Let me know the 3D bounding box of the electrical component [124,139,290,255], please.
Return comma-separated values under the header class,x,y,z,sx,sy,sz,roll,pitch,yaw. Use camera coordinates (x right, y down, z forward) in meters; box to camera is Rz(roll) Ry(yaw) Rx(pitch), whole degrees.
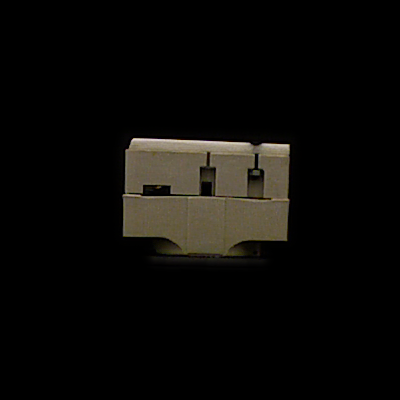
class,x,y,z,sx,sy,sz,roll,pitch,yaw
electrical component,0.000,0.000,0.654,0.089,0.062,0.150,1,0,-3
